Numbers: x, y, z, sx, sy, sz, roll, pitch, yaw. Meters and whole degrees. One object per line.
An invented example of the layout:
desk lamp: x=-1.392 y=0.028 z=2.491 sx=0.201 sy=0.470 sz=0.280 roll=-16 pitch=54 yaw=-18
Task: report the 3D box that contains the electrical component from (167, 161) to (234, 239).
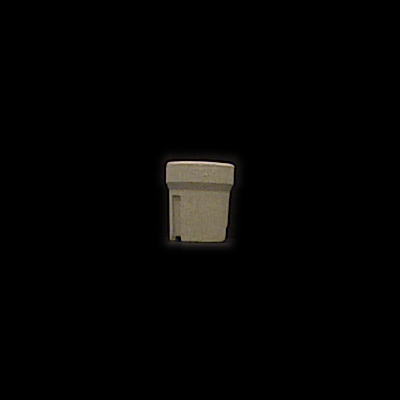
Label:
electrical component: x=0.000 y=0.000 z=0.650 sx=0.040 sy=0.046 sz=0.040 roll=1 pitch=1 yaw=0
